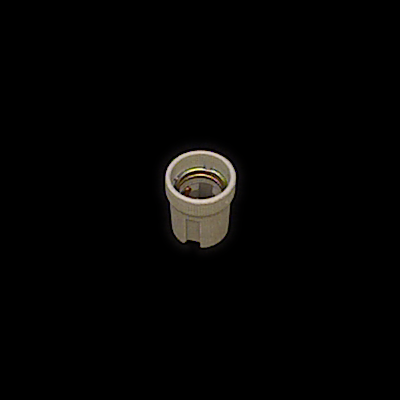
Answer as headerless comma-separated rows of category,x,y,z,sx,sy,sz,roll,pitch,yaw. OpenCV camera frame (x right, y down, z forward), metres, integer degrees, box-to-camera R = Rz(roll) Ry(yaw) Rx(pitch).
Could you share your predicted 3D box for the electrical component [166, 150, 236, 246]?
electrical component,0.000,0.000,0.632,0.040,0.039,0.047,0,-38,-1
